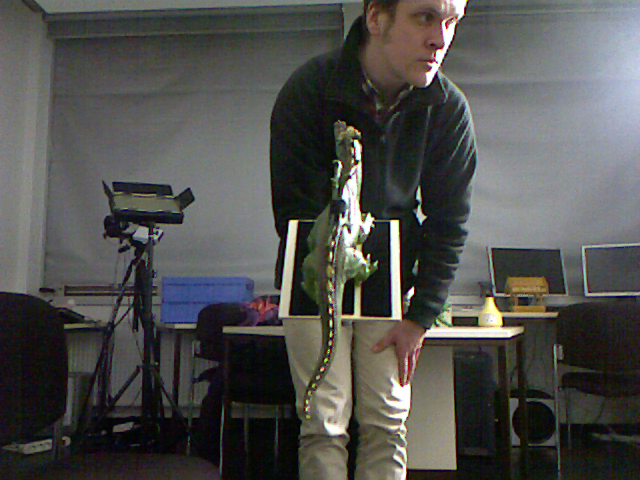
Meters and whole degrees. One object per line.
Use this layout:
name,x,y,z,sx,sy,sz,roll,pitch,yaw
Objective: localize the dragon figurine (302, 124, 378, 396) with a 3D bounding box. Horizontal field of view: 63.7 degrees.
dragon figurine,0.022,0.004,0.778,0.122,0.420,0.238,3,-29,7
